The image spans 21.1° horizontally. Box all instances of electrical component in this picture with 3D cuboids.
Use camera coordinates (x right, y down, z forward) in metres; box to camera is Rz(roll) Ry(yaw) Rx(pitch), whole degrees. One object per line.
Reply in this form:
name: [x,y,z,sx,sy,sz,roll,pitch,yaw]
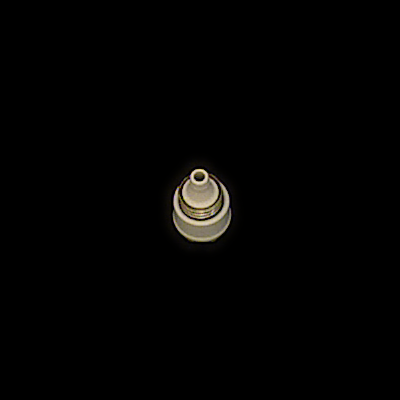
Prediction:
electrical component: [0.000,0.000,0.637,0.035,0.035,0.061,0,-27,2]
